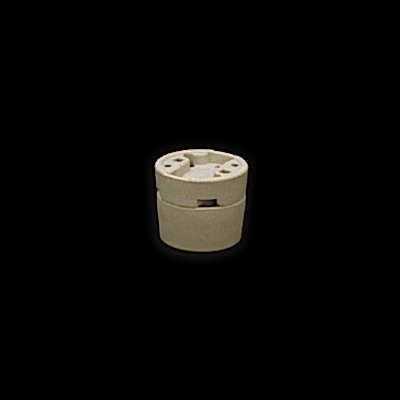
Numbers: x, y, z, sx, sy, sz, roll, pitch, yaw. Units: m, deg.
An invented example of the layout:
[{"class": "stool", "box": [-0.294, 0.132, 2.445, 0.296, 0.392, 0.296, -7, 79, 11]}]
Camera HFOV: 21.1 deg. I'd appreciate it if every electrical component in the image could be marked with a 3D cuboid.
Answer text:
[{"class": "electrical component", "box": [0.000, 0.000, 0.640, 0.055, 0.047, 0.055, 1, 21, 0]}]
